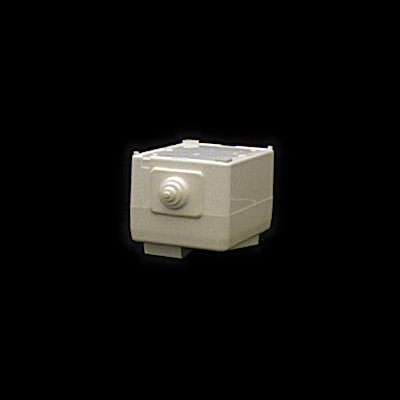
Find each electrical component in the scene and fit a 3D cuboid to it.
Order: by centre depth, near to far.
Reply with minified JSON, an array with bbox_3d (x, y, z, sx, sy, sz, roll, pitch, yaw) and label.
[{"bbox_3d":[-0.001,0.000,0.636,0.061,0.061,0.096,6,11,22],"label":"electrical component"}]
